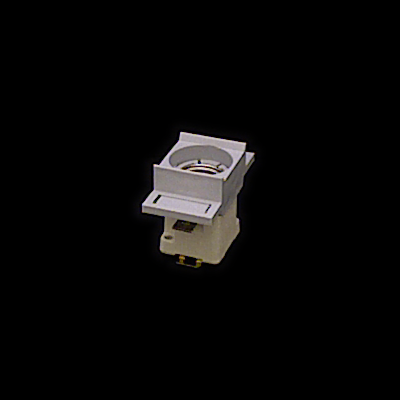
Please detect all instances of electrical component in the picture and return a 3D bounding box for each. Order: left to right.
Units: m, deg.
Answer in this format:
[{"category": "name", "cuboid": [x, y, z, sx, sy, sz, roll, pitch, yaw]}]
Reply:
[{"category": "electrical component", "cuboid": [0.000, 0.000, 0.635, 0.042, 0.065, 0.080, 11, 33, 17]}]
